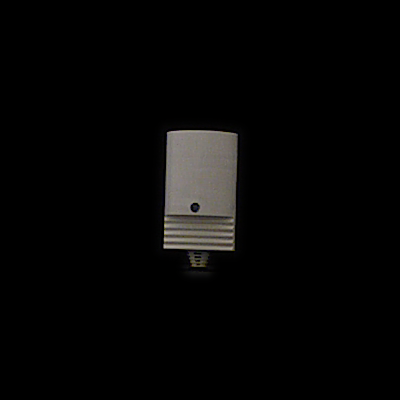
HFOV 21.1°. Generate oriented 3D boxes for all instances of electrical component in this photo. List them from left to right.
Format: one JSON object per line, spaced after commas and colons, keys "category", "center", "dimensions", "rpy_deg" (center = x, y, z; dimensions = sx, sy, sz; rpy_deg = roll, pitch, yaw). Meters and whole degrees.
{"category": "electrical component", "center": [0.000, 0.000, 0.652], "dimensions": [0.043, 0.081, 0.043], "rpy_deg": [2, 2, 0]}
